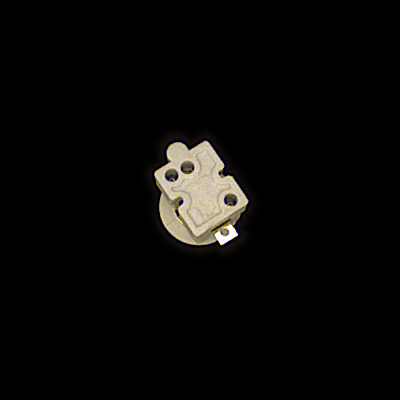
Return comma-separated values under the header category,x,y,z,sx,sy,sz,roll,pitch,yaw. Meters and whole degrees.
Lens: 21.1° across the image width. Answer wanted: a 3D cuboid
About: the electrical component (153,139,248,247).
category,x,y,z,sx,sy,sz,roll,pitch,yaw
electrical component,0.000,0.000,0.637,0.049,0.066,0.055,-32,-13,-9
